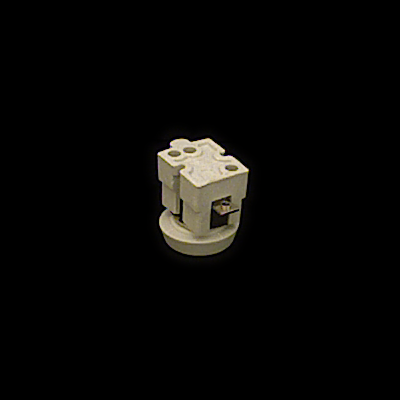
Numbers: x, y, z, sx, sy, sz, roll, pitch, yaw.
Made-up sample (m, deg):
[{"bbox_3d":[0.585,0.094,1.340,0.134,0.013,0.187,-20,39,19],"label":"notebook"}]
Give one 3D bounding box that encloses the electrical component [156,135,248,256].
[{"bbox_3d":[0.000,0.000,0.643,0.049,0.056,0.065,-18,38,-29],"label":"electrical component"}]
